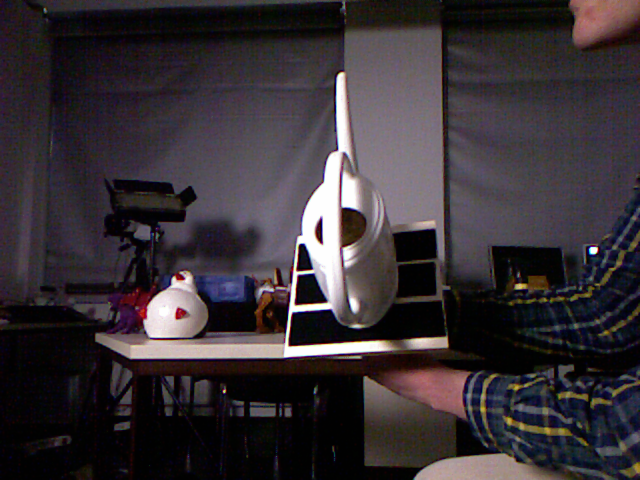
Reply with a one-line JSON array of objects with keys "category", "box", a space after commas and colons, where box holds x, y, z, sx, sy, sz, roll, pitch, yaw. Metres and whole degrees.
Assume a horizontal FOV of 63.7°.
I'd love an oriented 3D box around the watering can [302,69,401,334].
[{"category": "watering can", "box": [0.041, -0.036, 0.650, 0.105, 0.359, 0.221, -5, -38, 12]}]
